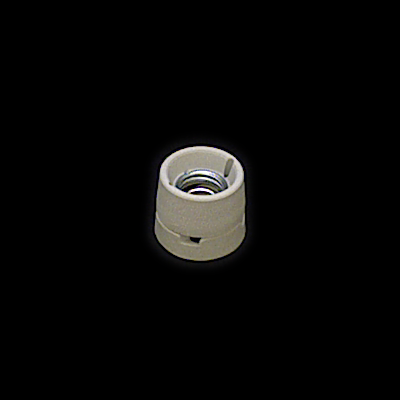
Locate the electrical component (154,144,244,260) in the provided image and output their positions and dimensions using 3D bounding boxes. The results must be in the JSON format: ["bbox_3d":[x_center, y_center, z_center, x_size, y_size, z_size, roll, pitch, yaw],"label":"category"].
[{"bbox_3d":[0.000,0.000,0.637,0.055,0.047,0.055,1,42,-1],"label":"electrical component"}]
